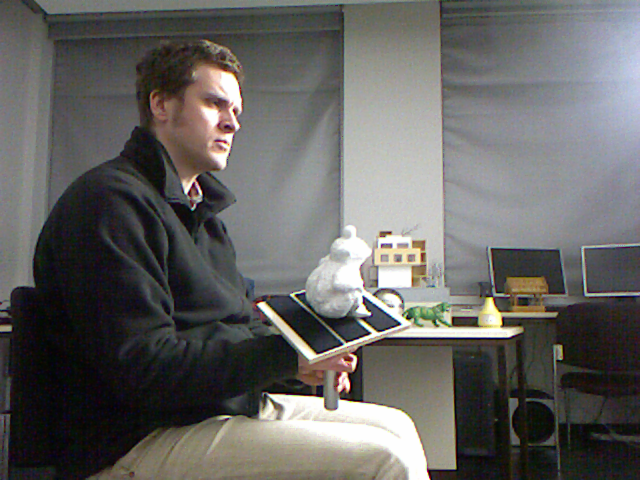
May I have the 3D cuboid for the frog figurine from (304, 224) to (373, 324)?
[{"bbox_3d":[0.033,0.057,0.895,0.123,0.157,0.140,-5,27,-6],"label":"frog figurine"}]
